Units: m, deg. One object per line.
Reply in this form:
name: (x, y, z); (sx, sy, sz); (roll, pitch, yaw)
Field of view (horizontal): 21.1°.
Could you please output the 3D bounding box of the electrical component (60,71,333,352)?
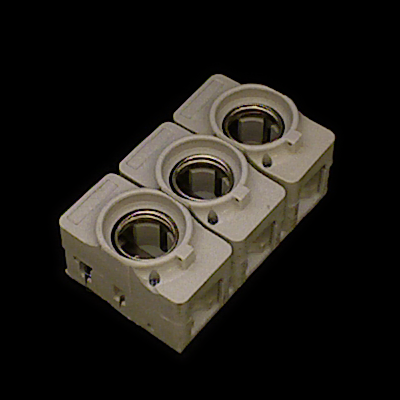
electrical component: (0.000, 0.000, 0.633); (0.089, 0.149, 0.062); (32, -31, 21)
